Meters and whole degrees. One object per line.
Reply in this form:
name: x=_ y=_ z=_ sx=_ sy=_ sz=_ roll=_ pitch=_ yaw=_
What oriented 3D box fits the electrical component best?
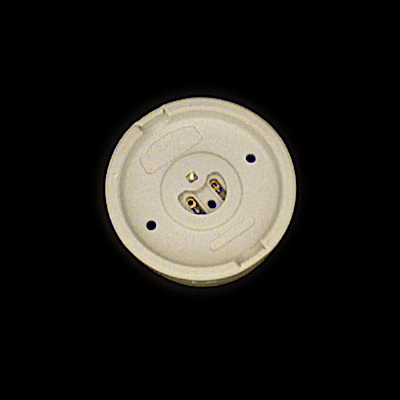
electrical component: x=0.000 y=0.000 z=0.634 sx=0.108 sy=0.108 sz=0.060 roll=0 pitch=-16 yaw=0
